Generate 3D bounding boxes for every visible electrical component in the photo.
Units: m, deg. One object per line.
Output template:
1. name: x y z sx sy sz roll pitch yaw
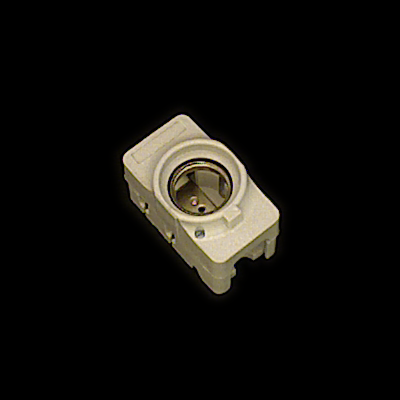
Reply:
1. electrical component: 0.000 0.000 0.635 0.050 0.089 0.055 -37 -21 -16
